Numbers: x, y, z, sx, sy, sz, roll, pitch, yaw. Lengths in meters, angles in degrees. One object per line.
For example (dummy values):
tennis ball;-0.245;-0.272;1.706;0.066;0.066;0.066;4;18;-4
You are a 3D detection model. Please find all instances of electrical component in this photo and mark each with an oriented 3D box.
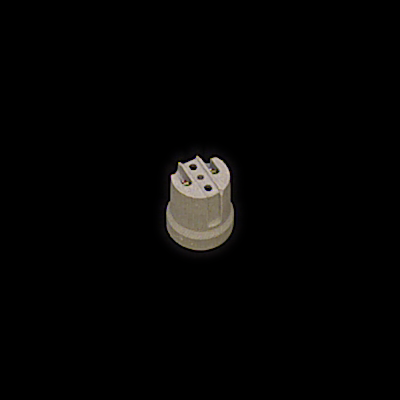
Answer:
electrical component;0.000;0.000;0.635;0.040;0.040;0.046;0;-37;-1
